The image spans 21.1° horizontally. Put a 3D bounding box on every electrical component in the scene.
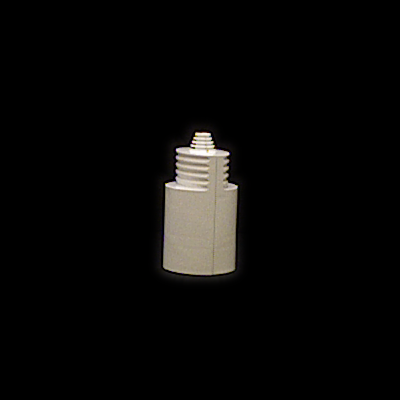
[{"bbox_3d":[0.000,0.000,0.641,0.043,0.081,0.043,1,11,0],"label":"electrical component"}]
